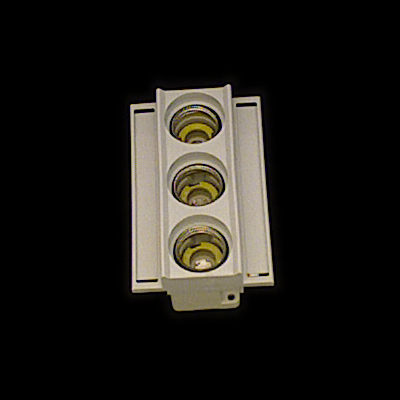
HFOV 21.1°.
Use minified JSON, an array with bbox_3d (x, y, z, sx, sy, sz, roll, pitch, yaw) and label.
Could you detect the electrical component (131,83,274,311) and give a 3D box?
[{"bbox_3d":[0.000,0.000,0.637,0.079,0.121,0.063,-3,-26,1],"label":"electrical component"}]
